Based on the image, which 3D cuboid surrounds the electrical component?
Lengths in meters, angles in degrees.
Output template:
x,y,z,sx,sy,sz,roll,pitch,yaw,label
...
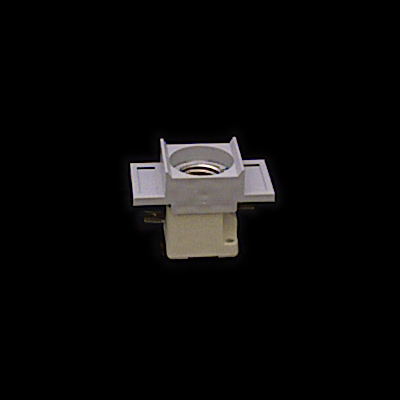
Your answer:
x,y,z,sx,sy,sz,roll,pitch,yaw,label
0.000,0.000,0.632,0.081,0.064,0.041,-2,32,-5,electrical component
